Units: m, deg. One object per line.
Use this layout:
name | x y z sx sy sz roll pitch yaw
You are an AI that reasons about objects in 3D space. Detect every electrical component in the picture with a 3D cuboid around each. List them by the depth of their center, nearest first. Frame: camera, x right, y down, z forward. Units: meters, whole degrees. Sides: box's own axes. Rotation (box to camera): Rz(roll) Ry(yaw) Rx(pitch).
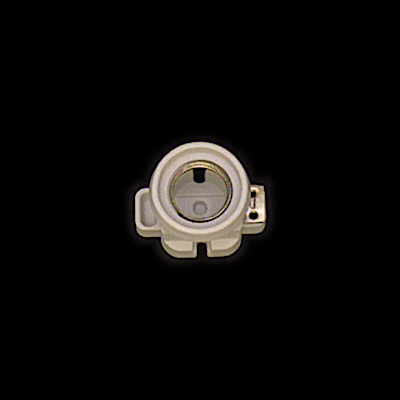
electrical component | 0.000 0.000 0.629 0.078 0.058 0.056 -2 -17 -1
